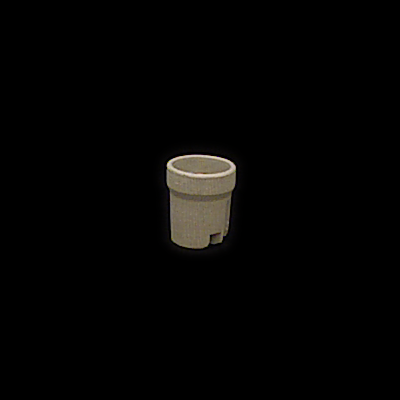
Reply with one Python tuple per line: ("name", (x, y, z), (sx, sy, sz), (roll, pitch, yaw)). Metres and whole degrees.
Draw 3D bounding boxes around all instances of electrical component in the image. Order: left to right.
("electrical component", (0.000, 0.000, 0.639), (0.040, 0.047, 0.039), (1, 21, 0))
